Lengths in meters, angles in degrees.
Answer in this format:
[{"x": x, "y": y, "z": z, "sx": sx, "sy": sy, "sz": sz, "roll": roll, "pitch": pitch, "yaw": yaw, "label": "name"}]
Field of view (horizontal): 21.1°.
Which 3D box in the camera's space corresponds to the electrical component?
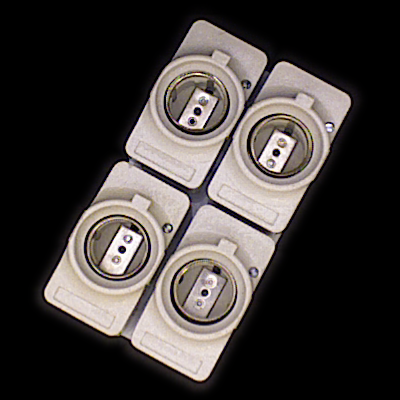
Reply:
[{"x": 0.000, "y": 0.000, "z": 0.626, "sx": 0.105, "sy": 0.187, "sz": 0.060, "roll": 28, "pitch": -6, "yaw": 3, "label": "electrical component"}]
